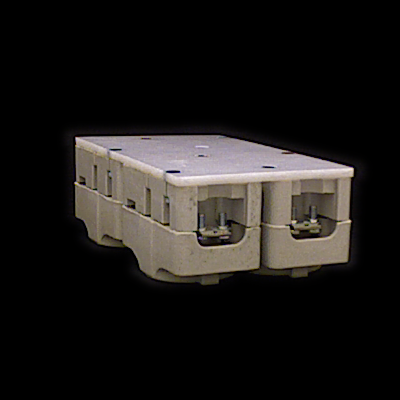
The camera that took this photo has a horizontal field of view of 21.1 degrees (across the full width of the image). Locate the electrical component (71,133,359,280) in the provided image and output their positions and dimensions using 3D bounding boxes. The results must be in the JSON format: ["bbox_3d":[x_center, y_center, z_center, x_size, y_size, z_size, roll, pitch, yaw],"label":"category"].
[{"bbox_3d":[0.000,0.000,0.644,0.106,0.060,0.184,-3,10,-23],"label":"electrical component"}]
